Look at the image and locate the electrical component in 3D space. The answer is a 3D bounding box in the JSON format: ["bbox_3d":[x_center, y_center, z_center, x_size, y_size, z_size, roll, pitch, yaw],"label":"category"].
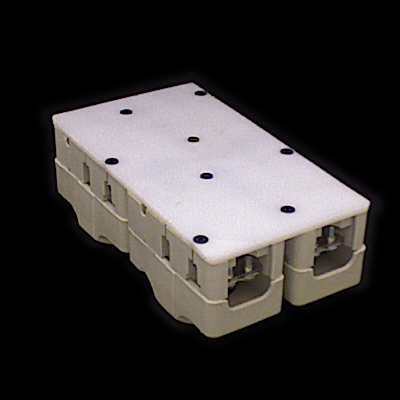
[{"bbox_3d":[0.000,0.000,0.634,0.105,0.061,0.184,-18,36,-28],"label":"electrical component"}]
